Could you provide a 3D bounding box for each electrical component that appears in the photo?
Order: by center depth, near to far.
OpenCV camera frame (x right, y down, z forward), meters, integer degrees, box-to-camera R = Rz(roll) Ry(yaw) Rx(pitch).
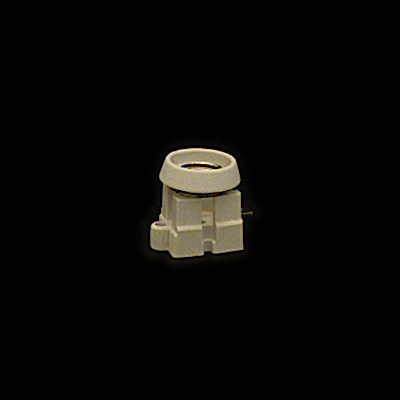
[{"bbox_3d":[0.000,0.000,0.648,0.067,0.056,0.047,-7,25,-18],"label":"electrical component"}]
